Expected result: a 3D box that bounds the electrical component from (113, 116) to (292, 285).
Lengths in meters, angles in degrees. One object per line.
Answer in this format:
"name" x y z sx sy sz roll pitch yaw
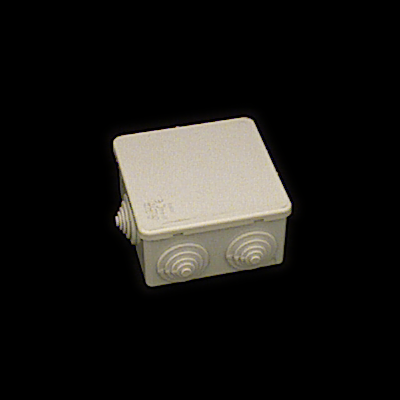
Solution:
"electrical component" 0.000 0.000 0.641 0.100 0.049 0.098 -9 44 -11
